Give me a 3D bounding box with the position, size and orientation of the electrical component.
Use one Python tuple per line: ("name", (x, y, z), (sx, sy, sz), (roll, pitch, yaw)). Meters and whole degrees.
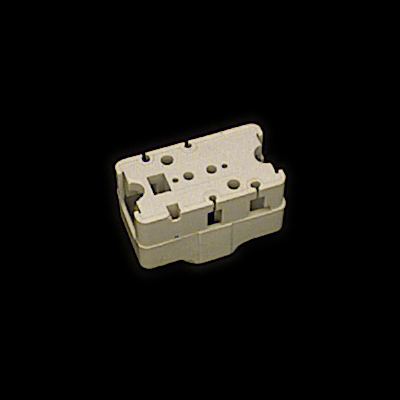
("electrical component", (0.000, 0.000, 0.637), (0.090, 0.050, 0.056), (-17, -35, -12))
